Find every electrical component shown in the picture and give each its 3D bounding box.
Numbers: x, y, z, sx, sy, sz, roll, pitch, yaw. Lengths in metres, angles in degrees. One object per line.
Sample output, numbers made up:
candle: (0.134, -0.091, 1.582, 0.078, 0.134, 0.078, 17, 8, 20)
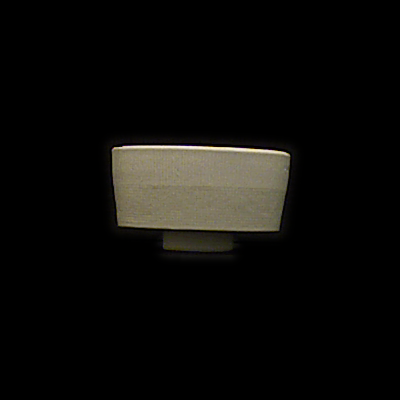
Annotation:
electrical component: (0.000, 0.000, 0.653, 0.108, 0.060, 0.108, 2, 1, 1)
